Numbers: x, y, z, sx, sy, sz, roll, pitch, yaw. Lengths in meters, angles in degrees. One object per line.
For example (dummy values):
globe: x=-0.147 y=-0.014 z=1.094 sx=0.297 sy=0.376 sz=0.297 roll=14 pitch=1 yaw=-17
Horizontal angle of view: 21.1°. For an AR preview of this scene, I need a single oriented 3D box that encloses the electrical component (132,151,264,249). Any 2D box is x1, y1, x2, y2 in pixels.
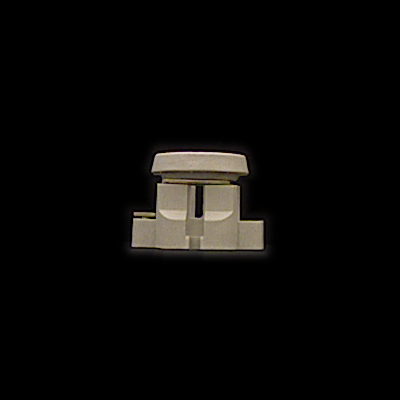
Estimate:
electrical component: x=-0.001 y=0.000 z=0.648 sx=0.078 sy=0.057 sz=0.058 roll=1 pitch=1 yaw=4
